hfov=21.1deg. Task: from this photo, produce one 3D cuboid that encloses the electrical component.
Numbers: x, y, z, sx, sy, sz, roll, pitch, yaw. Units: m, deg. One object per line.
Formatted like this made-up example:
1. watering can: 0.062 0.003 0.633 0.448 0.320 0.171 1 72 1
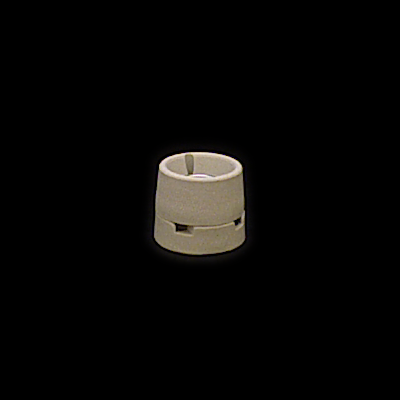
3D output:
1. electrical component: 0.000 0.000 0.640 0.055 0.047 0.055 1 22 0
